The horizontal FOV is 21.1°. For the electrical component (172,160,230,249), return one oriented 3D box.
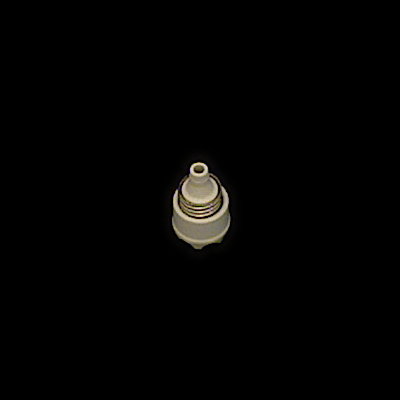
[{"bbox_3d":[0.000,0.000,0.639,0.035,0.035,0.062,0,-37,2],"label":"electrical component"}]
